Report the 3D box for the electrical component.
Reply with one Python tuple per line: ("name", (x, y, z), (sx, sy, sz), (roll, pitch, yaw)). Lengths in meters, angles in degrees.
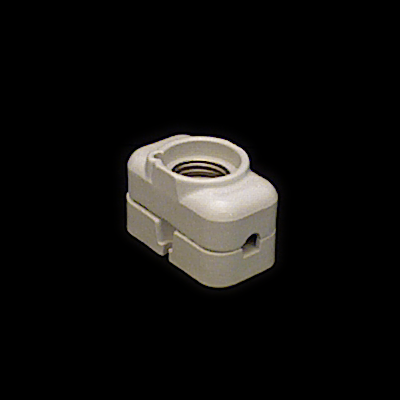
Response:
("electrical component", (0.000, 0.000, 0.640), (0.054, 0.060, 0.093), (-24, 39, -34))
